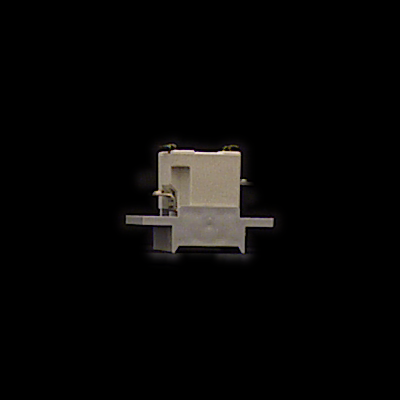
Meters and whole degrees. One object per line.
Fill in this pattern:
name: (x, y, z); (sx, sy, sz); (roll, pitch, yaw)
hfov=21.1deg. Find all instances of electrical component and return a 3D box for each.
electrical component: (0.000, 0.000, 0.649); (0.081, 0.064, 0.042); (1, 1, -19)
